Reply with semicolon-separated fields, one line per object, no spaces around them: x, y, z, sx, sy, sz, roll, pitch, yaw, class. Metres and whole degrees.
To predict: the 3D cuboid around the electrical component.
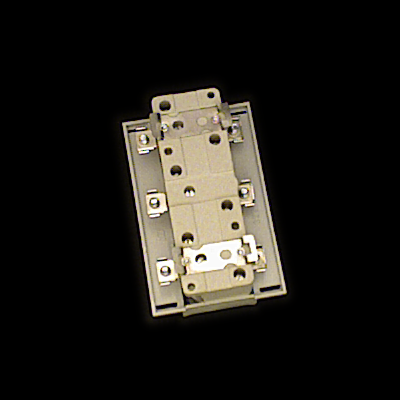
0.000;0.000;0.634;0.079;0.121;0.062;-10;-16;-3;electrical component
